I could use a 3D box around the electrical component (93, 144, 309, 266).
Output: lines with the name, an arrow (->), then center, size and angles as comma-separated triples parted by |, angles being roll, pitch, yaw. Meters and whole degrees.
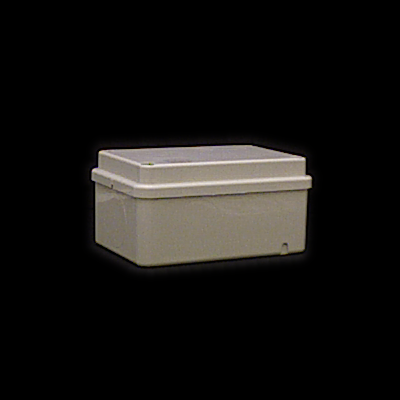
electrical component -> 0.000, 0.000, 0.642 | 0.113, 0.057, 0.077 | -4, 12, -27
